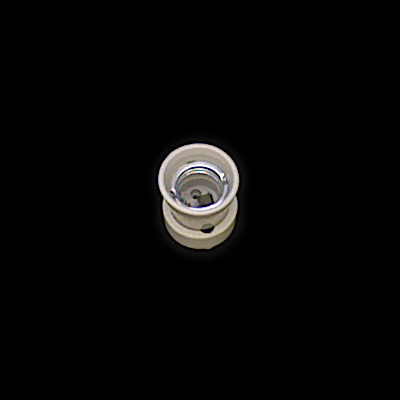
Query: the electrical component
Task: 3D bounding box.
[{"bbox_3d":[0.000,0.000,0.627,0.045,0.045,0.055,0,-27,0],"label":"electrical component"}]
